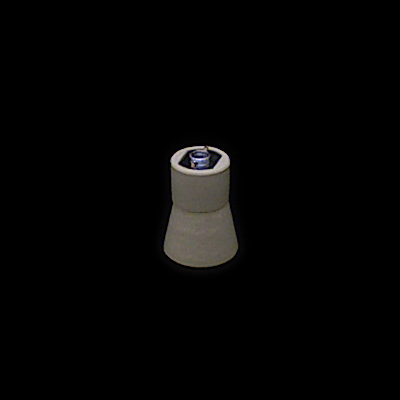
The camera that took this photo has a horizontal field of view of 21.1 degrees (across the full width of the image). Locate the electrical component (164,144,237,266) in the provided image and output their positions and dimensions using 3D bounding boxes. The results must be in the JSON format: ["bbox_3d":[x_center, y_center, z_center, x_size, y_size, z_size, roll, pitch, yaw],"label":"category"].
[{"bbox_3d":[0.000,0.000,0.634,0.044,0.066,0.044,0,31,0],"label":"electrical component"}]
